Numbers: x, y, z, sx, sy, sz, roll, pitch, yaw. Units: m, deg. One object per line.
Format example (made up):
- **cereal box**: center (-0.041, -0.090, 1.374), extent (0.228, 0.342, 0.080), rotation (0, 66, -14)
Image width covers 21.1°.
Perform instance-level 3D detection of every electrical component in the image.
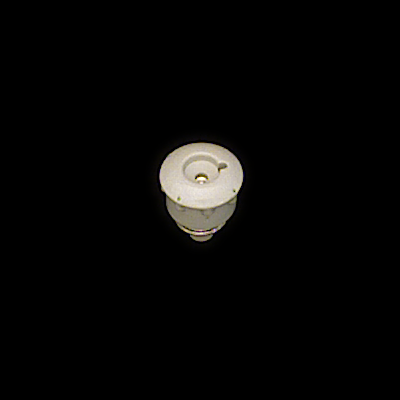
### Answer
- **electrical component**: center (0.000, 0.000, 0.637), extent (0.048, 0.048, 0.062), rotation (0, -37, 0)
